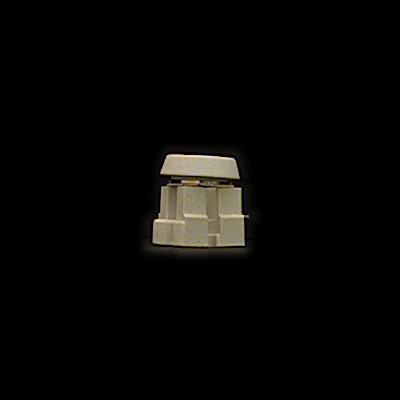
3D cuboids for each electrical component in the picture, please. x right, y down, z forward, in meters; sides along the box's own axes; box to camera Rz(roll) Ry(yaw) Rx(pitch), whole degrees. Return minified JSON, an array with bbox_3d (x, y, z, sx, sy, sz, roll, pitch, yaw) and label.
[{"bbox_3d":[0.000,0.000,0.658,0.067,0.055,0.048,0,4,-30],"label":"electrical component"}]
